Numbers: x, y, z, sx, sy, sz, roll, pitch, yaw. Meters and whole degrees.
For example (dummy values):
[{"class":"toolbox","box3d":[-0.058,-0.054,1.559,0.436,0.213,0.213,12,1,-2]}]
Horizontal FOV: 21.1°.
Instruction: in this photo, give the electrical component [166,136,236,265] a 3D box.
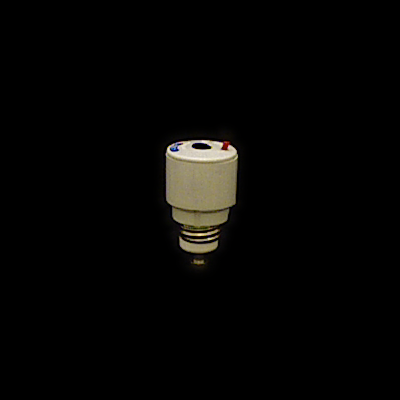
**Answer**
[{"class":"electrical component","box3d":[0.000,0.000,0.634,0.040,0.079,0.039,1,21,-1]}]
